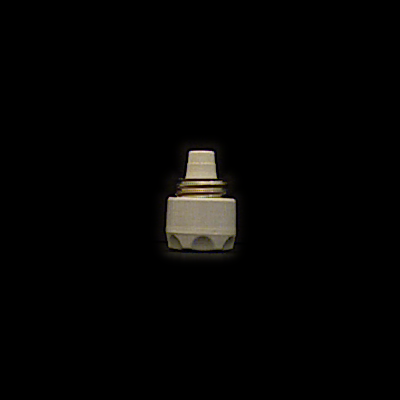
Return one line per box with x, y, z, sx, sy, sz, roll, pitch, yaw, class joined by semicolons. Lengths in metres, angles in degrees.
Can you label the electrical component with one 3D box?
0.000;0.000;0.657;0.043;0.062;0.043;1;1;1;electrical component
